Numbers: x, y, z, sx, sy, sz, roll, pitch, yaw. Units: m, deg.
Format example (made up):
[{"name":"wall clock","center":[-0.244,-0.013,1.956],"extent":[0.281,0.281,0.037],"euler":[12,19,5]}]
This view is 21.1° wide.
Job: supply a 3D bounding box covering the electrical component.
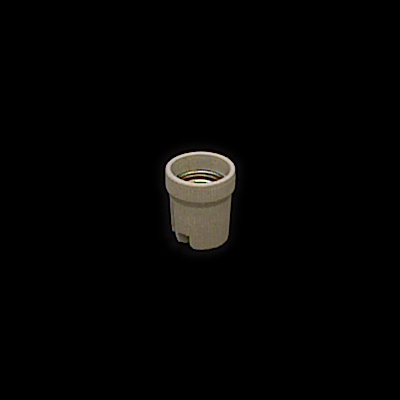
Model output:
[{"name":"electrical component","center":[0.000,0.000,0.635],"extent":[0.040,0.047,0.039],"euler":[1,32,0]}]
